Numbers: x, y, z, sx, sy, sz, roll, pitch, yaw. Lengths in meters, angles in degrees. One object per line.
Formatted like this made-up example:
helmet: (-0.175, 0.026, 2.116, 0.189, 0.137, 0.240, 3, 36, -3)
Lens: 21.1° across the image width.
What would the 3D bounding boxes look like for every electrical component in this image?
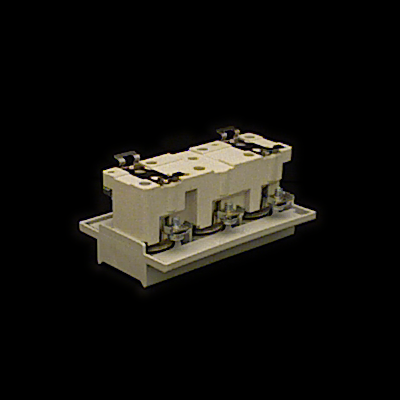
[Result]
electrical component: (0.000, 0.000, 0.644, 0.121, 0.064, 0.077, -18, 29, -39)
